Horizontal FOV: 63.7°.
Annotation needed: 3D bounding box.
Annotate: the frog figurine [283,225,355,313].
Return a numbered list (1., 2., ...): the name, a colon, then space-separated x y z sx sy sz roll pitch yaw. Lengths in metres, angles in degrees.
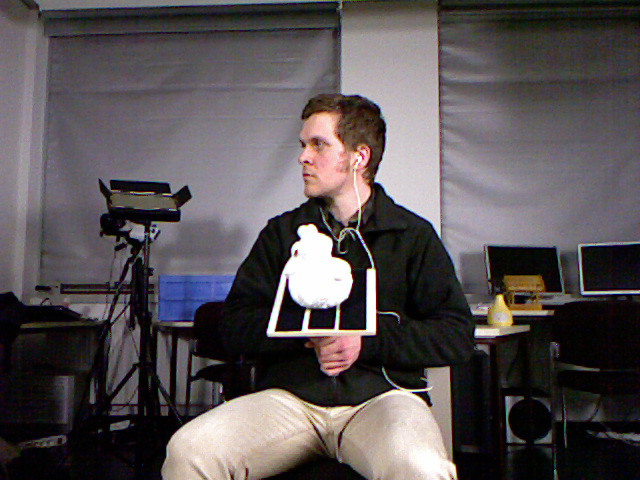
1. frog figurine: -0.004 0.055 0.989 0.138 0.156 0.125 10 39 26
